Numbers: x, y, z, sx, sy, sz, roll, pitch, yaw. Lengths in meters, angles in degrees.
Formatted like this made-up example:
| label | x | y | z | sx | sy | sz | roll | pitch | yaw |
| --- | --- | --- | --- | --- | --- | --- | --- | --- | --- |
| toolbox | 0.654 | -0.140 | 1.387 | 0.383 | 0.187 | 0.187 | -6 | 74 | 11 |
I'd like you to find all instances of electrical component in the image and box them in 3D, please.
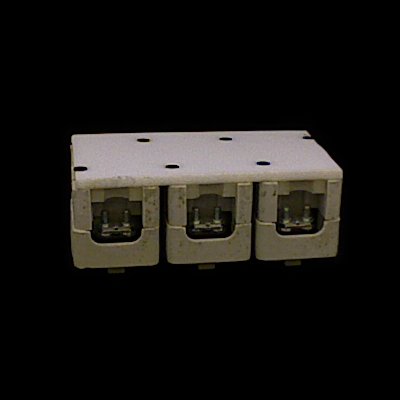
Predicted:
| label | x | y | z | sx | sy | sz | roll | pitch | yaw |
| --- | --- | --- | --- | --- | --- | --- | --- | --- | --- |
| electrical component | 0.000 | 0.000 | 0.642 | 0.150 | 0.063 | 0.088 | -2 | 20 | -8 |
